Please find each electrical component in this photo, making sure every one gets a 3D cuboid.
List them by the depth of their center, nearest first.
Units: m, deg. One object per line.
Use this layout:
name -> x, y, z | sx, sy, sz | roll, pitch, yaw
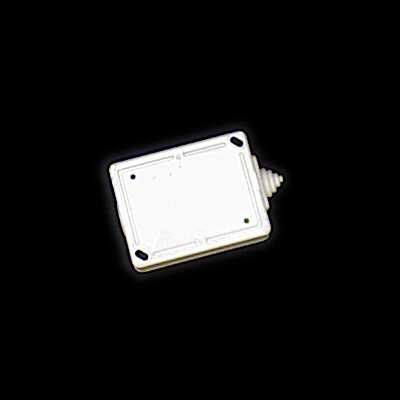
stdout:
electrical component -> 0.000, 0.000, 0.627 | 0.096, 0.062, 0.061 | -15, -7, -1
